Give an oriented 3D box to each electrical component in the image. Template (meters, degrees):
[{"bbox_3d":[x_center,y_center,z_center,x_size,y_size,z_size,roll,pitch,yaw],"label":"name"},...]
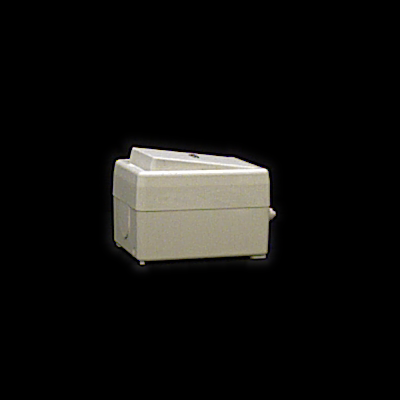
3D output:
[{"bbox_3d":[0.000,0.000,0.644,0.096,0.061,0.061,-2,11,-19],"label":"electrical component"}]
